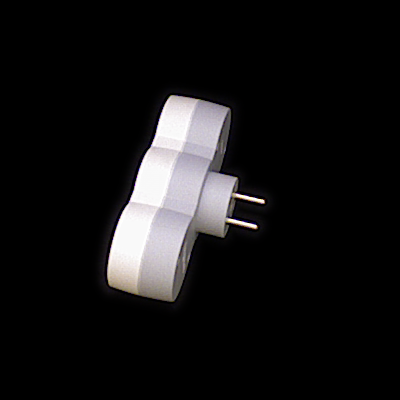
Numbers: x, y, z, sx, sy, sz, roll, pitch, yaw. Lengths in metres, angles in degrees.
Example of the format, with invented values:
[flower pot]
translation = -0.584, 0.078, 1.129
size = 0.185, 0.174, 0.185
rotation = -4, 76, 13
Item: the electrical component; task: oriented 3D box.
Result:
[electrical component]
translation = 0.000, 0.000, 0.633
size = 0.073, 0.138, 0.052
rotation = 13, -37, 7
